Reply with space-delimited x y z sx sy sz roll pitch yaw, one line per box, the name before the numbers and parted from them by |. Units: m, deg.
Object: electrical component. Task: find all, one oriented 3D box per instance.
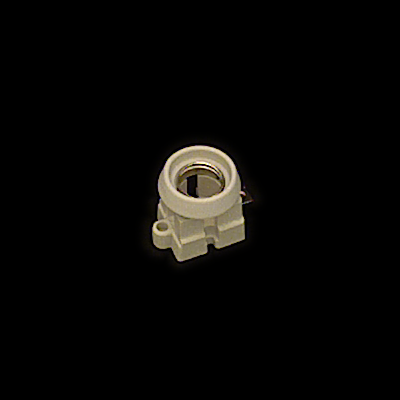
electrical component | 0.000 0.000 0.639 0.067 0.048 0.056 -20 -33 -15
